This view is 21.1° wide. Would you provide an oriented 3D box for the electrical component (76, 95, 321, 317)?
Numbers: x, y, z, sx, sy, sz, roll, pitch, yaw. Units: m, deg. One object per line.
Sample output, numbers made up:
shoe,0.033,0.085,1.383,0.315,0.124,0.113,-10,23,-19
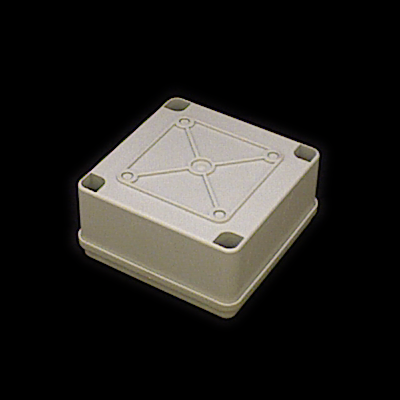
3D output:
electrical component,0.000,0.000,0.633,0.108,0.057,0.108,23,46,22
